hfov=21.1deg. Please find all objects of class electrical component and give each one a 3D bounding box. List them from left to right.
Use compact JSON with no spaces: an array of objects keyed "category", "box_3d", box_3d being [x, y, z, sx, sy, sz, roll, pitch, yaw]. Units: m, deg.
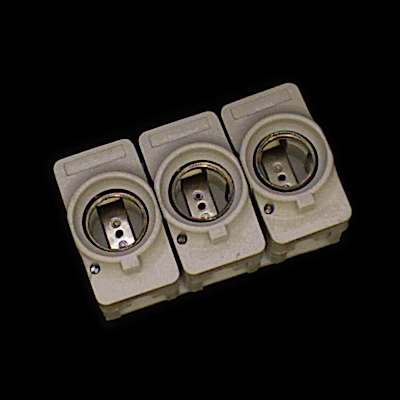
[{"category":"electrical component","box_3d":[0.000,0.000,0.631,0.150,0.089,0.062,-19,-15,-5]}]
